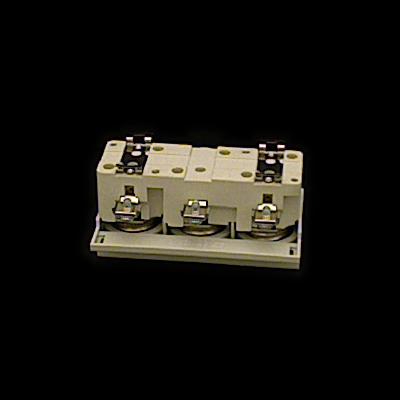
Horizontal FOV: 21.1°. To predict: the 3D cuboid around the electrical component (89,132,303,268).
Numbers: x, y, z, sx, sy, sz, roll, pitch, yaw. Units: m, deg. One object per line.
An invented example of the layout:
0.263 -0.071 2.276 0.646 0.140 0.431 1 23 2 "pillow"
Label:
0.000 0.000 0.644 0.121 0.064 0.077 4 31 4 "electrical component"
